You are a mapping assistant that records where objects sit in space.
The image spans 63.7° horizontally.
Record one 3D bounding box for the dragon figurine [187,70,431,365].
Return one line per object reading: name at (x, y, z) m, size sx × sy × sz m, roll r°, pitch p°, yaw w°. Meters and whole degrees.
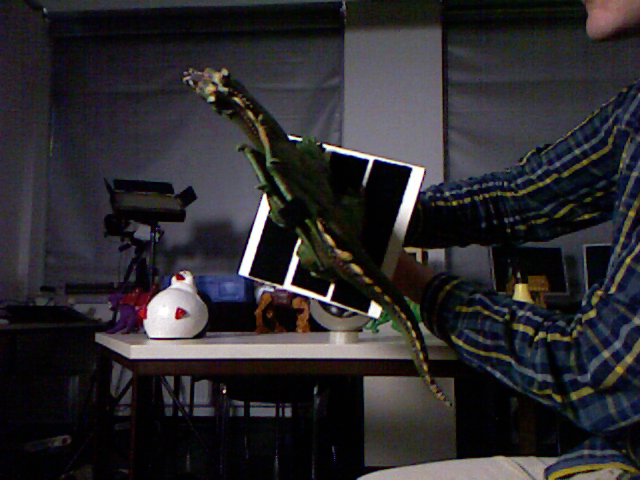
dragon figurine at (-0.003, -0.027, 0.556) m, size 0.122 × 0.415 × 0.243 m, roll -40°, pitch -11°, yaw 4°
